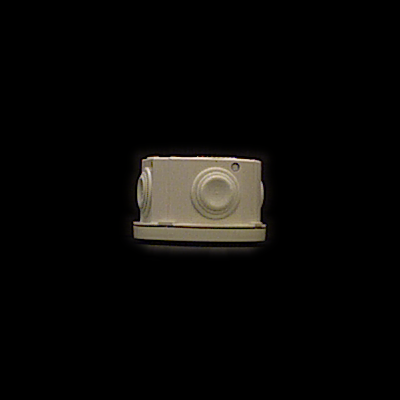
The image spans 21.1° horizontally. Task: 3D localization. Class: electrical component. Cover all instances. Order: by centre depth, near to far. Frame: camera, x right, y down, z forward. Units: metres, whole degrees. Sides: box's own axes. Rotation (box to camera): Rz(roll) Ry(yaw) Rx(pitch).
[{"bbox_3d":[0.000,0.000,0.648,0.080,0.051,0.080,1,1,0],"label":"electrical component"}]
